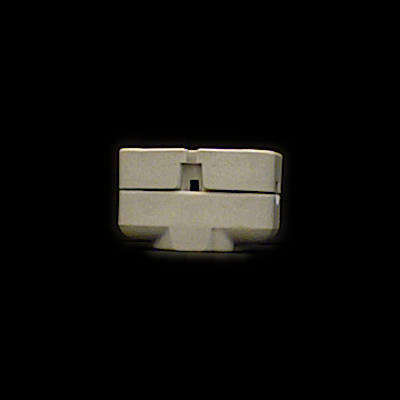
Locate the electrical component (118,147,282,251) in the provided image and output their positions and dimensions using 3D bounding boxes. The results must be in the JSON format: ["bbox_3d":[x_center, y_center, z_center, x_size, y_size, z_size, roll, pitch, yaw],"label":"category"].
[{"bbox_3d":[0.000,0.000,0.654,0.095,0.059,0.054,2,1,12],"label":"electrical component"}]
